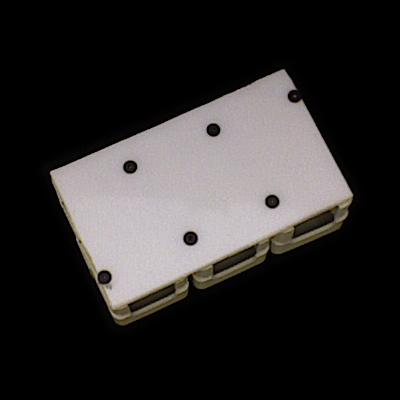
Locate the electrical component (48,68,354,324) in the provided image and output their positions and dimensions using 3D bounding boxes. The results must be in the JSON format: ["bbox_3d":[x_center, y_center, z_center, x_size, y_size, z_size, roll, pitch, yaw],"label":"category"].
[{"bbox_3d":[0.000,0.000,0.631,0.150,0.089,0.062,-24,-15,-7],"label":"electrical component"}]
